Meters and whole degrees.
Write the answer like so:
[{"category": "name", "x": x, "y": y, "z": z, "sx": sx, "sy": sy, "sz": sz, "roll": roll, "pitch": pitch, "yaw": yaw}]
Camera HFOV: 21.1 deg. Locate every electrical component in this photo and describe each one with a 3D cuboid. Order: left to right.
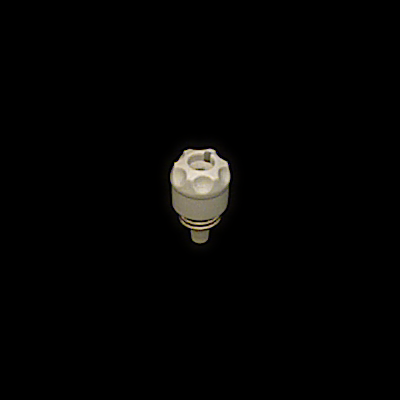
[{"category": "electrical component", "x": 0.000, "y": 0.000, "z": 0.639, "sx": 0.035, "sy": 0.062, "sz": 0.035, "roll": 1, "pitch": 42, "yaw": 0}]
